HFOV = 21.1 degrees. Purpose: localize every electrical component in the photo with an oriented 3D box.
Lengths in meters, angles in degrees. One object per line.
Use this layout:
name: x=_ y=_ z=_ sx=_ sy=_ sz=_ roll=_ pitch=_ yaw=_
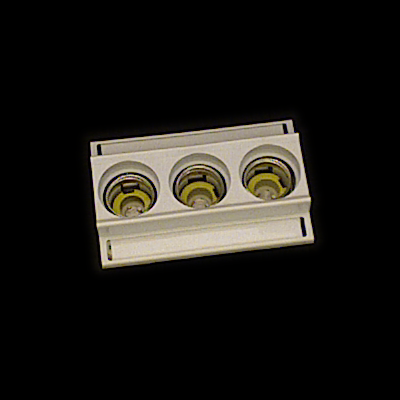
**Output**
electrical component: x=0.000 y=0.000 z=0.637 sx=0.121 sy=0.078 sz=0.063 roll=-6 pitch=-25 yaw=-3
